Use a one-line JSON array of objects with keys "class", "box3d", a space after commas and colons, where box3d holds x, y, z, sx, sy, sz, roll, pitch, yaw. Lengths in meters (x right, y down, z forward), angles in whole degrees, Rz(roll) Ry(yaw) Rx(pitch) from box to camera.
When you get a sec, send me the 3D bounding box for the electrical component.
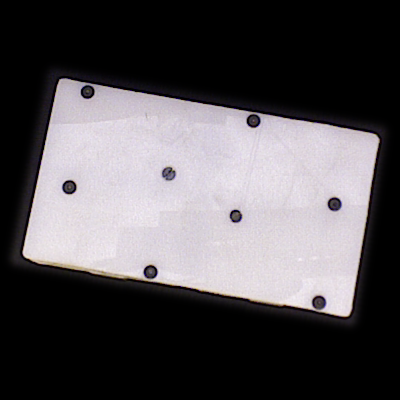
[{"class": "electrical component", "box3d": [0.000, 0.000, 0.626, 0.186, 0.106, 0.060, 10, -7, 2]}]
